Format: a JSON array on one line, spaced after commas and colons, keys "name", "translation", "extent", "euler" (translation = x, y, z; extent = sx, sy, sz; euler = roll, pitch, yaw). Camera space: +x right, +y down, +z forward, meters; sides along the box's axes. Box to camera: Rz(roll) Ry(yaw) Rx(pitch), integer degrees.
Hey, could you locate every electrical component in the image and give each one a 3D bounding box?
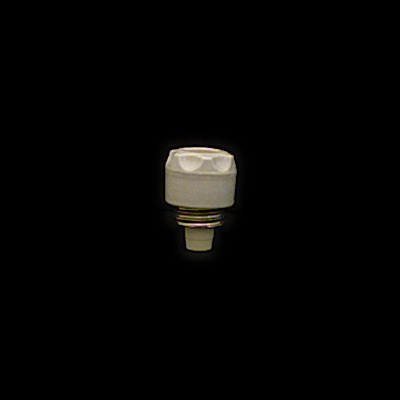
[{"name": "electrical component", "translation": [0.000, 0.000, 0.651], "extent": [0.043, 0.062, 0.043], "euler": [2, 12, 0]}]
